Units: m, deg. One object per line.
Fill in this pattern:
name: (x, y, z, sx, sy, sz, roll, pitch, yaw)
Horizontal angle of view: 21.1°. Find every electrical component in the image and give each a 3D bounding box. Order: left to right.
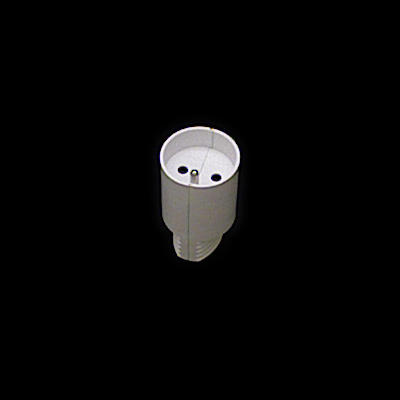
electrical component: (0.000, 0.000, 0.617, 0.043, 0.043, 0.081, 0, -37, 0)
